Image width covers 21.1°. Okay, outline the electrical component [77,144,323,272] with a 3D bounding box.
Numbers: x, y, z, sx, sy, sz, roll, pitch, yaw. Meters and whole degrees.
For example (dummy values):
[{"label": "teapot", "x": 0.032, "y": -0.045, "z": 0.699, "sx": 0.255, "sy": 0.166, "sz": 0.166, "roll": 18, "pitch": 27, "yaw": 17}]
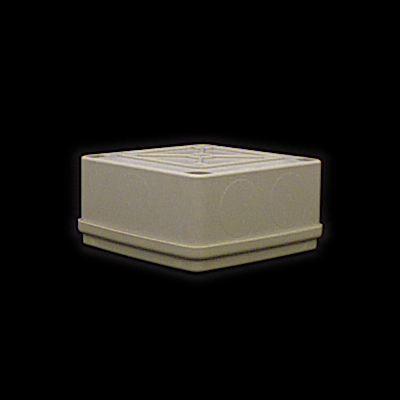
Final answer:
[{"label": "electrical component", "x": 0.000, "y": 0.000, "z": 0.643, "sx": 0.109, "sy": 0.056, "sz": 0.107, "roll": -9, "pitch": 14, "yaw": -43}]
